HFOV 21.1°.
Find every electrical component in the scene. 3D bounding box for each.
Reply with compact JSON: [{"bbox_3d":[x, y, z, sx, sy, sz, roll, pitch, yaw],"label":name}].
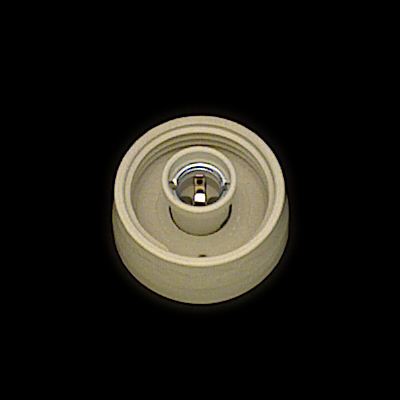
[{"bbox_3d":[0.000,0.000,0.633,0.108,0.108,0.060,0,-26,0],"label":"electrical component"}]
